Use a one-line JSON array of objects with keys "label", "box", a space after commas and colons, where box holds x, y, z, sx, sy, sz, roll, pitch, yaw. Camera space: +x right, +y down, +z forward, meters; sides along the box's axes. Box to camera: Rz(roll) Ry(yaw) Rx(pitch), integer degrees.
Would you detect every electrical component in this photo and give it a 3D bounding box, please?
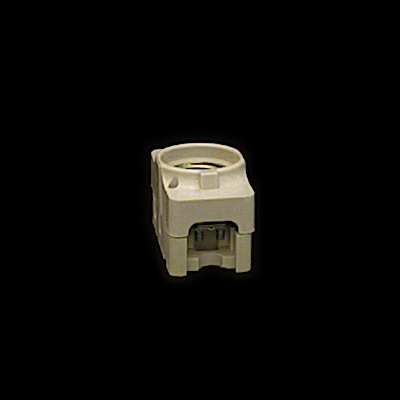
[{"label": "electrical component", "box": [0.000, 0.000, 0.646, 0.050, 0.056, 0.088, -3, 22, -10]}]
